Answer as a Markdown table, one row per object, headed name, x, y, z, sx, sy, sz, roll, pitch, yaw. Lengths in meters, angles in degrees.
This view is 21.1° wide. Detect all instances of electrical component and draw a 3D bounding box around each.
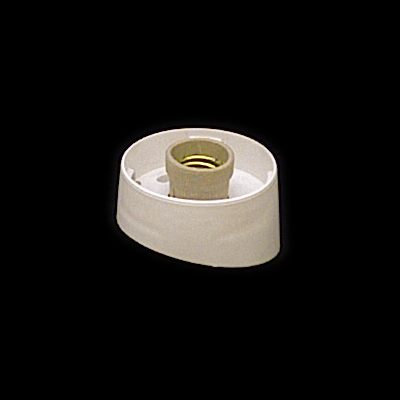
| name | x | y | z | sx | sy | sz | roll | pitch | yaw |
| --- | --- | --- | --- | --- | --- | --- | --- | --- | --- |
| electrical component | 0.000 | 0.000 | 0.633 | 0.099 | 0.065 | 0.097 | 1 | 31 | 0 |
